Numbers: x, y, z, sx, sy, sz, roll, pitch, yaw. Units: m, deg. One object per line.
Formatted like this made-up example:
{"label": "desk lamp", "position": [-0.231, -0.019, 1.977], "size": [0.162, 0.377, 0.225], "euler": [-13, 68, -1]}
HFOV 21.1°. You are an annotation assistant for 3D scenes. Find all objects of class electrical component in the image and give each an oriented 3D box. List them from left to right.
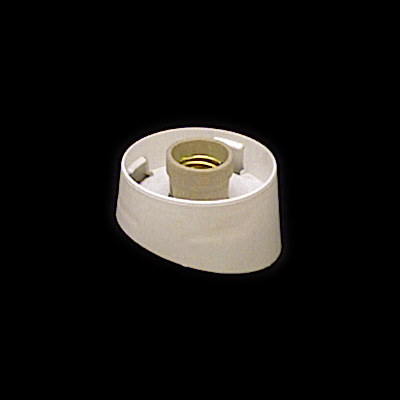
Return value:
{"label": "electrical component", "position": [0.000, 0.000, 0.633], "size": [0.099, 0.065, 0.097], "euler": [1, 31, 0]}
